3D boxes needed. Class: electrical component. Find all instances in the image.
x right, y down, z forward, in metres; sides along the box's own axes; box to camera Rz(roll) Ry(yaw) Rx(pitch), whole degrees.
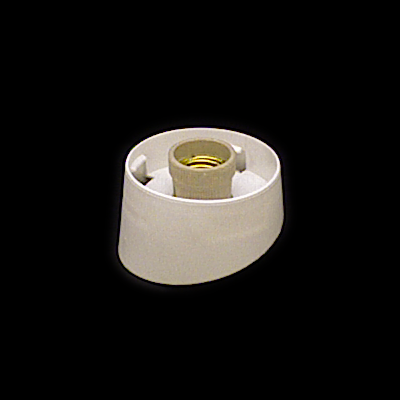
[{"bbox_3d":[0.000,0.000,0.634,0.099,0.065,0.097,1,32,0],"label":"electrical component"}]
